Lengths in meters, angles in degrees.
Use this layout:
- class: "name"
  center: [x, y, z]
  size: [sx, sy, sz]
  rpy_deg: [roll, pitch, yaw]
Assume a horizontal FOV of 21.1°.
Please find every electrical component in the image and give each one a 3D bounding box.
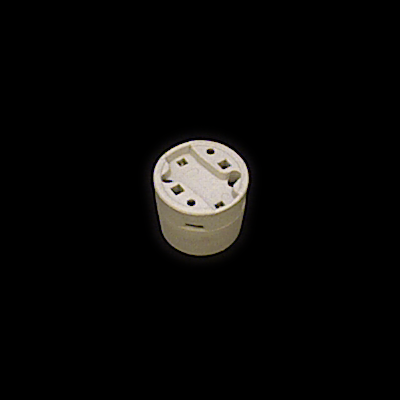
- class: "electrical component"
  center: [0.000, 0.000, 0.634]
  size: [0.055, 0.055, 0.047]
  rpy_deg: [0, -38, 0]
